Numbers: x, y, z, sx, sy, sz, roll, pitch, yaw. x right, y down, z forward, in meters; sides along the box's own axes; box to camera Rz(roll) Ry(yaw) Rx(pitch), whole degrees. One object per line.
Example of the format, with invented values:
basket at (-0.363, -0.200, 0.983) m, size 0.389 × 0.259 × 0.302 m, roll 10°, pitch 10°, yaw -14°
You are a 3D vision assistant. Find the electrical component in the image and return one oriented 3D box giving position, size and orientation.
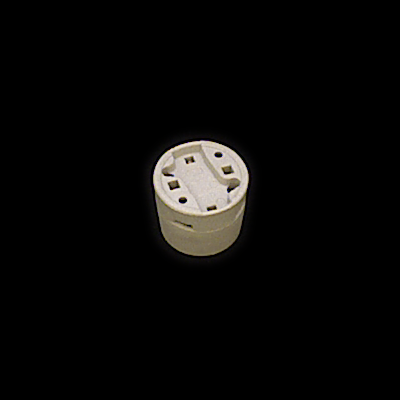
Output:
electrical component at (0.000, 0.000, 0.634) m, size 0.055 × 0.055 × 0.047 m, roll 0°, pitch -38°, yaw 0°
